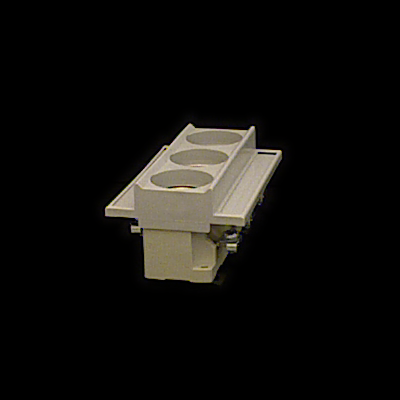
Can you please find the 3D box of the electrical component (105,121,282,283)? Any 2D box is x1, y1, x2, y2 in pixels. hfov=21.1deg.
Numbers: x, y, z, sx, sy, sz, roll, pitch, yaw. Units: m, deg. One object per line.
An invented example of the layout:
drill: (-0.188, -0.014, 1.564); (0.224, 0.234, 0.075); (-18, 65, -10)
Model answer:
electrical component: (0.000, 0.000, 0.650); (0.078, 0.064, 0.120); (4, 22, 13)
